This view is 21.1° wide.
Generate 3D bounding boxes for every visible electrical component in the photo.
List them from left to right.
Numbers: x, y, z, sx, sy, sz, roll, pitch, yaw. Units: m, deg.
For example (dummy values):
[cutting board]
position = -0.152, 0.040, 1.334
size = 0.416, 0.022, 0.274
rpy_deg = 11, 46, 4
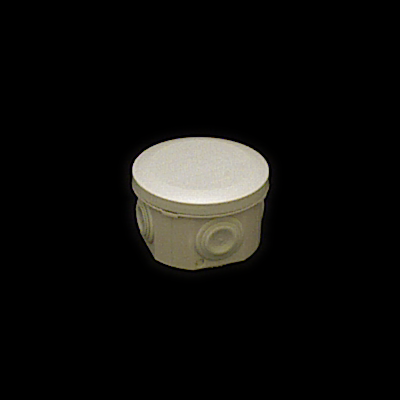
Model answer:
[electrical component]
position = 0.000, 0.000, 0.635
size = 0.080, 0.051, 0.079
rpy_deg = 1, 31, 0
